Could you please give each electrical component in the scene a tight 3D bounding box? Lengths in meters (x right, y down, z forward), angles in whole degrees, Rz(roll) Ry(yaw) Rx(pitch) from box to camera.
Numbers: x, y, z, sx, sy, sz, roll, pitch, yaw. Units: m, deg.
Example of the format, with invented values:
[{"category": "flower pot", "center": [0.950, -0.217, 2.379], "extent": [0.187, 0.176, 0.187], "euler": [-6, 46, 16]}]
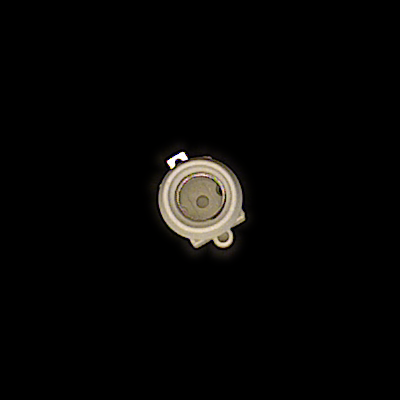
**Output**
[{"category": "electrical component", "center": [0.000, 0.000, 0.639], "extent": [0.048, 0.066, 0.055], "euler": [-31, -5, -4]}]
